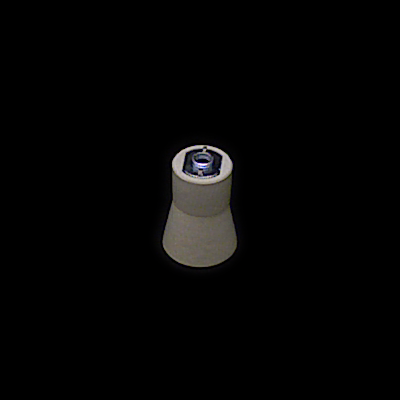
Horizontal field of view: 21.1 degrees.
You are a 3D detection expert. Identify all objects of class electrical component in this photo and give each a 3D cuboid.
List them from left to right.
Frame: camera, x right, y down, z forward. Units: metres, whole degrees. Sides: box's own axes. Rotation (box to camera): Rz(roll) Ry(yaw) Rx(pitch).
[{"bbox_3d":[0.000,0.000,0.628,0.044,0.066,0.044,1,42,-1],"label":"electrical component"}]
